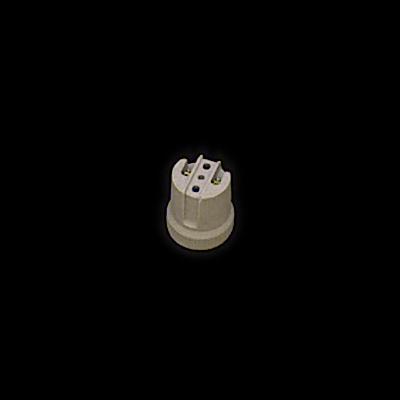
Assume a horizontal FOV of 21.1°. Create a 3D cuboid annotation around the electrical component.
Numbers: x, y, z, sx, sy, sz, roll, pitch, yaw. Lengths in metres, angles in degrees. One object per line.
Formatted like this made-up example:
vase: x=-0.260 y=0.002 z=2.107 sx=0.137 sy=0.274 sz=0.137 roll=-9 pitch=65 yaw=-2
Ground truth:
electrical component: x=0.000 y=0.000 z=0.634 sx=0.040 sy=0.040 sz=0.046 roll=0 pitch=-37 yaw=-1
